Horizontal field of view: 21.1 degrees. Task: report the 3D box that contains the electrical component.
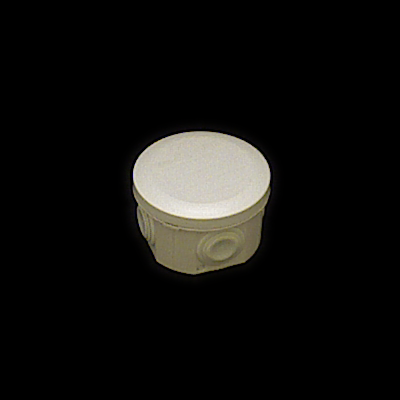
[{"bbox_3d":[0.000,0.000,0.635,0.080,0.051,0.079,1,42,0],"label":"electrical component"}]
